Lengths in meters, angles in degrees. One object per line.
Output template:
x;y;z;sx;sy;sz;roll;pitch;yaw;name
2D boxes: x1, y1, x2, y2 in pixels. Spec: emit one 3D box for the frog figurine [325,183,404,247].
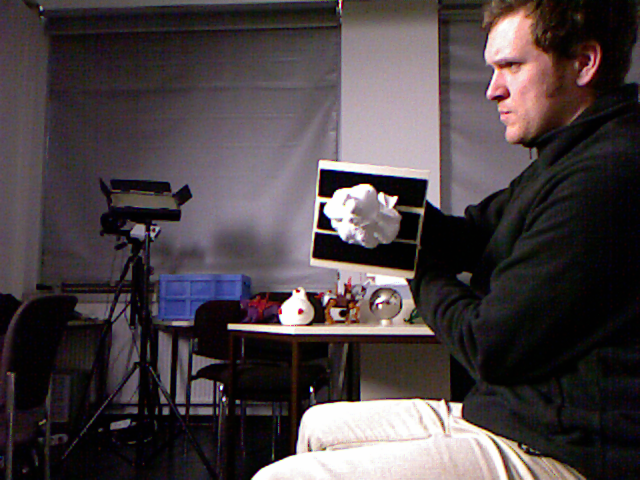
0.076;-0.040;0.891;0.138;0.122;0.162;29;17;4;frog figurine
